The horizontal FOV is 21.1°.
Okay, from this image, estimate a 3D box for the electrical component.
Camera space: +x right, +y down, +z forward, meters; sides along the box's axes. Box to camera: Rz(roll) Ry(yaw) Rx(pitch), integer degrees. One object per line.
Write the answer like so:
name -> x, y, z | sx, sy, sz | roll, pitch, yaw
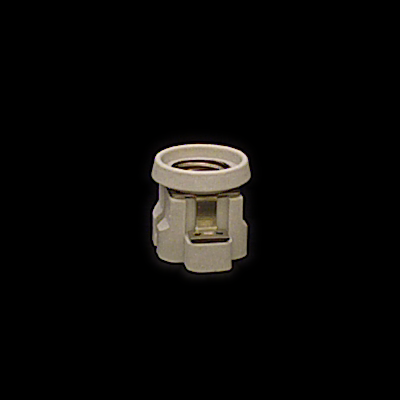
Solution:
electrical component -> 0.000, 0.000, 0.638 | 0.058, 0.057, 0.077 | -3, 21, -10
